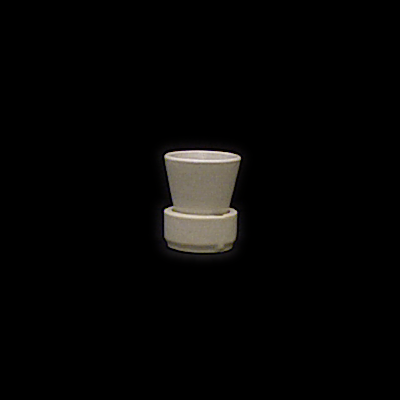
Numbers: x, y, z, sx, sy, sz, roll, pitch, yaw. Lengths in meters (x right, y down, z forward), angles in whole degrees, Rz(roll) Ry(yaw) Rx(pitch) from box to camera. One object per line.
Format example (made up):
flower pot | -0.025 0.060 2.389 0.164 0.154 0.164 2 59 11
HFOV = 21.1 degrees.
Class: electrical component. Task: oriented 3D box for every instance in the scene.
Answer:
electrical component | 0.000 0.000 0.647 0.045 0.055 0.044 2 11 0
